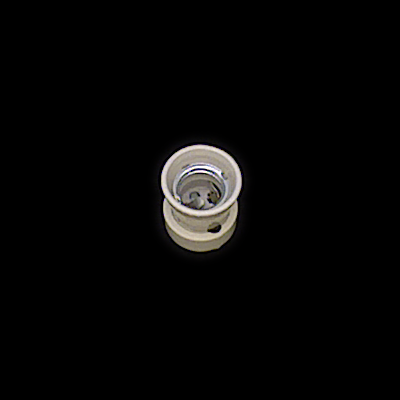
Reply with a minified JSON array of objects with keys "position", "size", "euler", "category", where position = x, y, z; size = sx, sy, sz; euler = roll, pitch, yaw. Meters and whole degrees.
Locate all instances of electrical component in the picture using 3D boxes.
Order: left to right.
[{"position":[0.000,0.000,0.629],"size":[0.045,0.045,0.055],"euler":[0,-27,-1],"category":"electrical component"}]
